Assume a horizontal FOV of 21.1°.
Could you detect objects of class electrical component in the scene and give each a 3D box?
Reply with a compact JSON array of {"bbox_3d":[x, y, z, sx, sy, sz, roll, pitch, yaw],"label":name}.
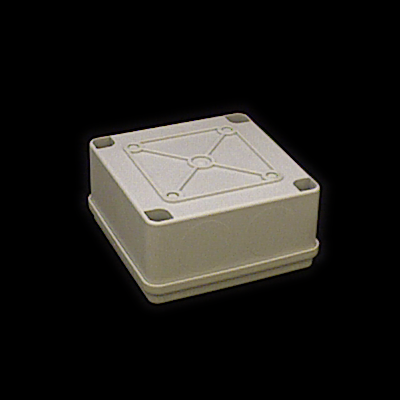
[{"bbox_3d":[0.000,0.000,0.635,0.108,0.057,0.107,-12,34,-21],"label":"electrical component"}]
